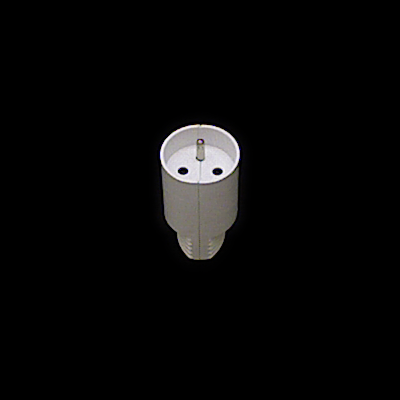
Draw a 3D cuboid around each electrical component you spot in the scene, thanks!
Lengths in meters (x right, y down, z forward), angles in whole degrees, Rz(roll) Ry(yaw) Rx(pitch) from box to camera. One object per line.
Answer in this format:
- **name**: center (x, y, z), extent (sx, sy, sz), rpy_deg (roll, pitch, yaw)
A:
- **electrical component**: center (0.000, 0.000, 0.620), extent (0.043, 0.043, 0.081), rpy_deg (0, -39, -1)
